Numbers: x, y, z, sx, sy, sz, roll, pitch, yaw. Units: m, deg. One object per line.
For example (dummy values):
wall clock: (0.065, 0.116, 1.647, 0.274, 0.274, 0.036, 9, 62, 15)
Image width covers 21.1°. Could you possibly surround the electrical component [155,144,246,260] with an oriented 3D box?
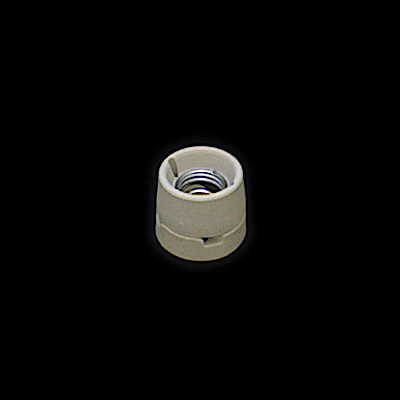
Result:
electrical component: (0.000, 0.000, 0.637, 0.055, 0.047, 0.055, 0, 41, 0)
